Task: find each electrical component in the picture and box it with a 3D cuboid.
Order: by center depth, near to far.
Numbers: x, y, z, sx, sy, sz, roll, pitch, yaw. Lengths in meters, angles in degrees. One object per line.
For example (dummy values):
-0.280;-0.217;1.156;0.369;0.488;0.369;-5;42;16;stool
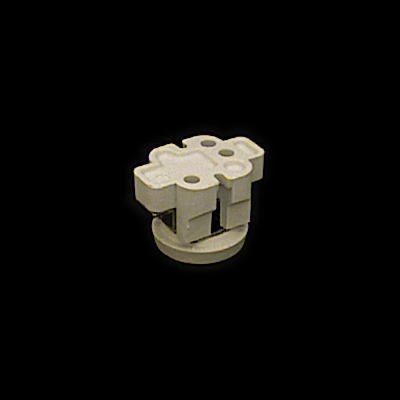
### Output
0.000;0.000;0.640;0.079;0.057;0.057;-20;39;-27;electrical component
